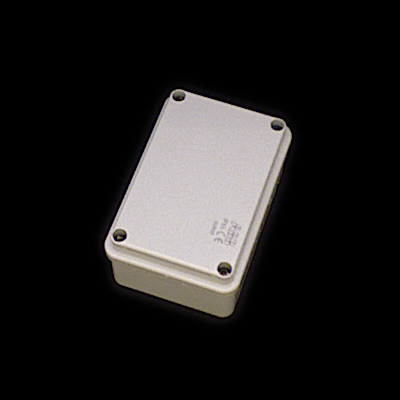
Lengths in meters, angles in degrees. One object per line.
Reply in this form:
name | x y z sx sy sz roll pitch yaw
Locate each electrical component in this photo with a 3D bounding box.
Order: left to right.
electrical component | 0.000 0.000 0.627 0.078 0.113 0.057 17 -26 8
